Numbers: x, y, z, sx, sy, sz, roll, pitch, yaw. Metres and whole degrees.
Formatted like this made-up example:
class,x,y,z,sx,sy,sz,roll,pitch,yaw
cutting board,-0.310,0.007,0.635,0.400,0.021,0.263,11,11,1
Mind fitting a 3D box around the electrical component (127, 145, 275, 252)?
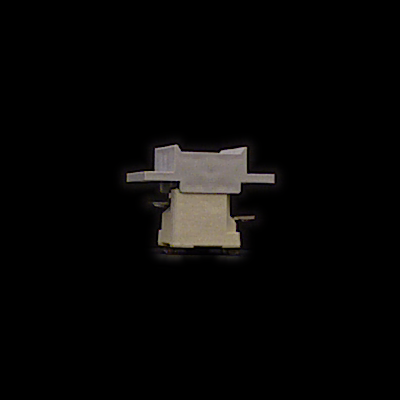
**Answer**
class,x,y,z,sx,sy,sz,roll,pitch,yaw
electrical component,0.000,0.000,0.651,0.081,0.064,0.042,1,0,-18
